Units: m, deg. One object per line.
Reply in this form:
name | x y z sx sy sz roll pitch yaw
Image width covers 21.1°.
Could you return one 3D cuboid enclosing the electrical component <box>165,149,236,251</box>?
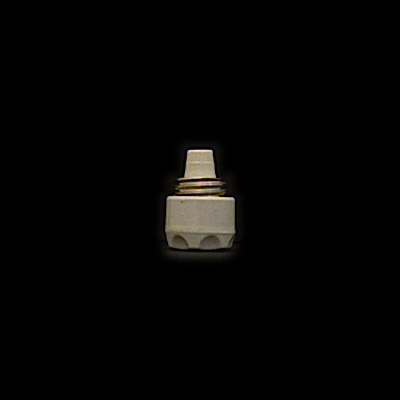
electrical component | 0.000 0.000 0.656 0.043 0.062 0.043 0 2 1
